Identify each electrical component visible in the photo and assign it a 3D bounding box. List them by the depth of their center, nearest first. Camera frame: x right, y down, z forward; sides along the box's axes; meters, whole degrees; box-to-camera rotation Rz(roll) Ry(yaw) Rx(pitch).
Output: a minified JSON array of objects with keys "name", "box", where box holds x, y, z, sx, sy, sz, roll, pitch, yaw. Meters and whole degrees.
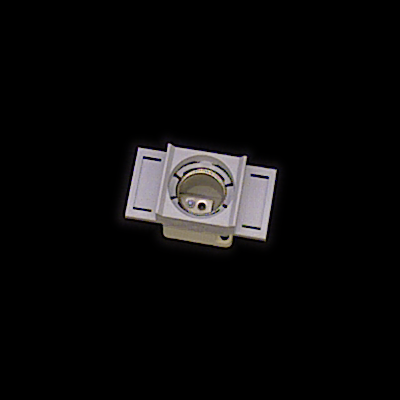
[{"name":"electrical component","box":[0.000,0.000,0.624,0.081,0.042,0.063,10,-15,3]}]
